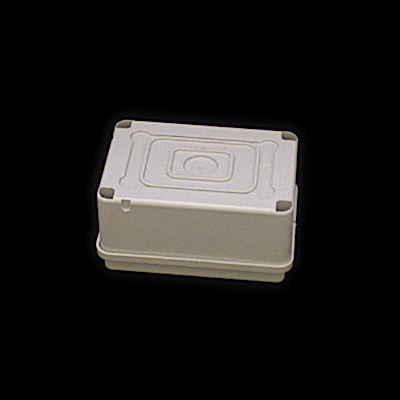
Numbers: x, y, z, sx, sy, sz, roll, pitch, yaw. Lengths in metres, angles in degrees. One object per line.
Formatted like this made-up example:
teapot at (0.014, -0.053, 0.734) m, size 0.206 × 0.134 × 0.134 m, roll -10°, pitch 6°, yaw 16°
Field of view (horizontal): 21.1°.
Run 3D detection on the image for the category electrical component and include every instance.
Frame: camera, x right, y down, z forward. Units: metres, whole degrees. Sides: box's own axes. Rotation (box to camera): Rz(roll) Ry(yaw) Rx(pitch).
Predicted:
electrical component at (0.000, 0.000, 0.632) m, size 0.113 × 0.057 × 0.077 m, roll 5°, pitch 42°, yaw 4°
